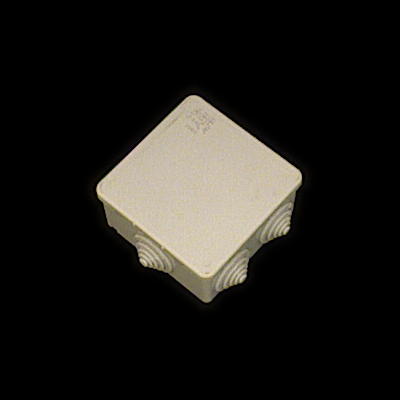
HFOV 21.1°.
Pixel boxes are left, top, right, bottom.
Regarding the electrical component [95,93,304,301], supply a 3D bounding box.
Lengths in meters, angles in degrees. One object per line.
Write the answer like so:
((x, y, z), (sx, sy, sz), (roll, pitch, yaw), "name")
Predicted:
((0.000, 0.000, 0.640), (0.099, 0.100, 0.048), (38, -21, 17), "electrical component")
